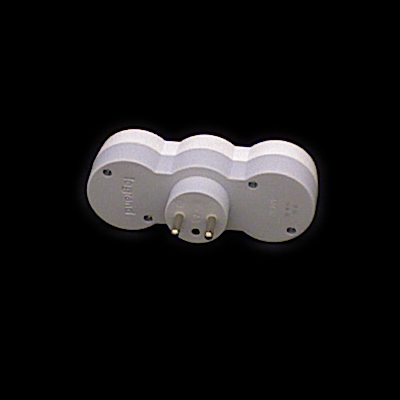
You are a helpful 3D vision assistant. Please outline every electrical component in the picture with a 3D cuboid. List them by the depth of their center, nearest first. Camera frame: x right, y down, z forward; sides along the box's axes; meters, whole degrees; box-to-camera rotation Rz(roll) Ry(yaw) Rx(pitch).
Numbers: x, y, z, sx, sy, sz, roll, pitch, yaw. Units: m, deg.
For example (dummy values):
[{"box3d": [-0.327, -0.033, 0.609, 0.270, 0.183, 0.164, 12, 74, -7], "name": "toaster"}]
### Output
[{"box3d": [0.000, 0.000, 0.637, 0.138, 0.053, 0.073, 5, 34, 5], "name": "electrical component"}]
